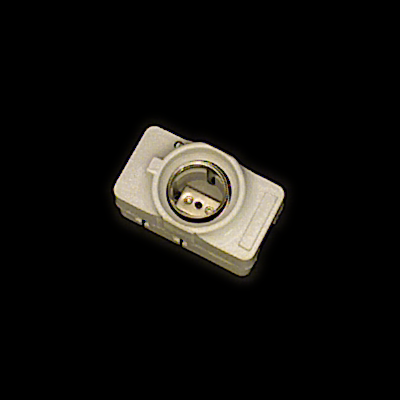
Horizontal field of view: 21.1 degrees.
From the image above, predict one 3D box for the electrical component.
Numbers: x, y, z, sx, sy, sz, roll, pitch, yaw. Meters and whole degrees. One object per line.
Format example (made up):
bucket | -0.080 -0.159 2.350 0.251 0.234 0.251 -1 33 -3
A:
electrical component | 0.000 0.000 0.636 0.089 0.050 0.055 26 -14 7
